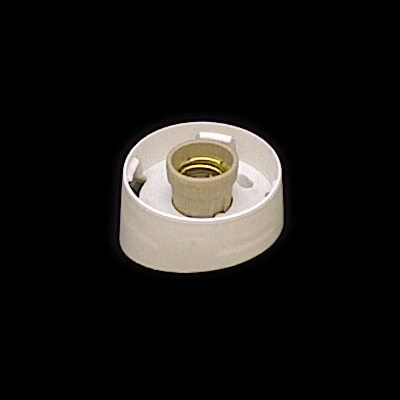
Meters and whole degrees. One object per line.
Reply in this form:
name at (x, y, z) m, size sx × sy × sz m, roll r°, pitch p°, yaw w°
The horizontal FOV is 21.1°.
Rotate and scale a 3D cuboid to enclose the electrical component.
electrical component at (0.000, 0.000, 0.629) m, size 0.099 × 0.065 × 0.098 m, roll 0°, pitch 42°, yaw 0°
